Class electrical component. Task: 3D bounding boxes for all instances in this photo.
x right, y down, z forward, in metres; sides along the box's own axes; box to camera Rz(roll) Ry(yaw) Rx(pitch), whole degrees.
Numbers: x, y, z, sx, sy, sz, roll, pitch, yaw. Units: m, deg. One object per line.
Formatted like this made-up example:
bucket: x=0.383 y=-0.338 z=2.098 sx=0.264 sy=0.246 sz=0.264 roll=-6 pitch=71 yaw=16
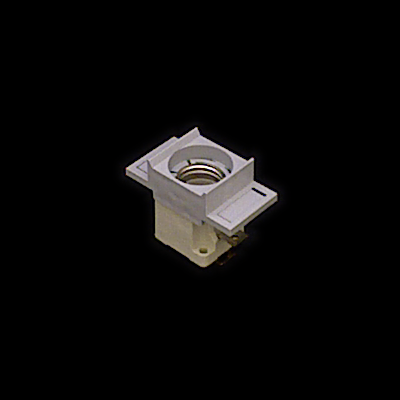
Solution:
electrical component: x=0.000 y=0.000 z=0.628 sx=0.080 sy=0.064 sz=0.042 roll=31 pitch=49 yaw=30
